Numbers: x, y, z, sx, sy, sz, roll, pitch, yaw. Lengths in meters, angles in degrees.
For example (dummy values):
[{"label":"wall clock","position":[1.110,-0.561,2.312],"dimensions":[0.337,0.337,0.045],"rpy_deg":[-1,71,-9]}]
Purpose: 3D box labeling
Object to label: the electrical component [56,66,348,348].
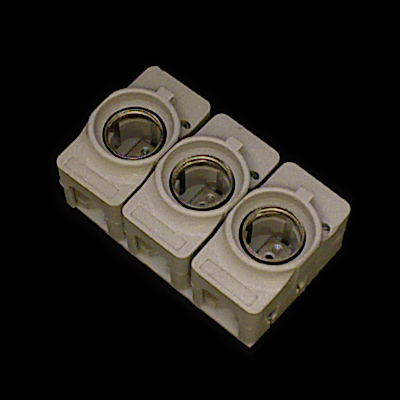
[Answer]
[{"label":"electrical component","position":[0.000,0.000,0.632],"dimensions":[0.149,0.089,0.062],"rpy_deg":[37,-22,17]}]
